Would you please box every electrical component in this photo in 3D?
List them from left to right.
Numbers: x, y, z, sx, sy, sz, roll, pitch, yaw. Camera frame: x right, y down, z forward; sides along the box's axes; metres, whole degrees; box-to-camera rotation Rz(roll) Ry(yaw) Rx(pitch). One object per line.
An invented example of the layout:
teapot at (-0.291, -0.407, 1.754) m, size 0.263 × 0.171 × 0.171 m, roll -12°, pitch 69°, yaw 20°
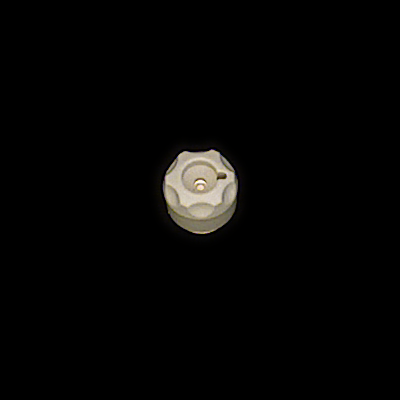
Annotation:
electrical component at (0.000, 0.000, 0.634) m, size 0.043 × 0.043 × 0.062 m, roll 0°, pitch -26°, yaw 1°
